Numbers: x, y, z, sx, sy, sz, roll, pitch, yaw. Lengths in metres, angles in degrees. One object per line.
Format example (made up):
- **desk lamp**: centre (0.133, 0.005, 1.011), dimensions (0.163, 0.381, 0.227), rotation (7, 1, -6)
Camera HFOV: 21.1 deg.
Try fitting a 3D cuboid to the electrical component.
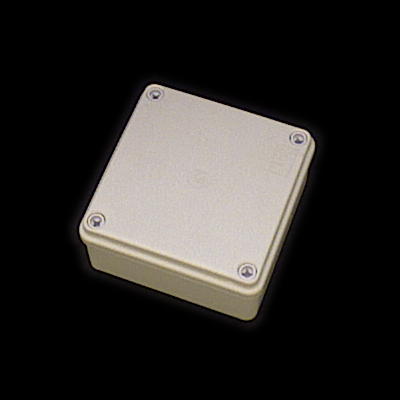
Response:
- **electrical component**: centre (0.000, 0.000, 0.629), dimensions (0.108, 0.109, 0.056), rotation (18, -26, 10)
